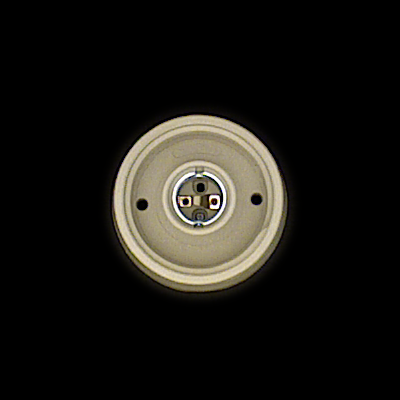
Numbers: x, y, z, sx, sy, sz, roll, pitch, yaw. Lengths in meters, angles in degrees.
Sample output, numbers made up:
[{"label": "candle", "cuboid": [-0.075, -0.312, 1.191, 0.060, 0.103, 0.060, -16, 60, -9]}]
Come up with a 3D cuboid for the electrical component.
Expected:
[{"label": "electrical component", "cuboid": [0.000, 0.000, 0.634, 0.108, 0.108, 0.060, 0, -6, 0]}]
